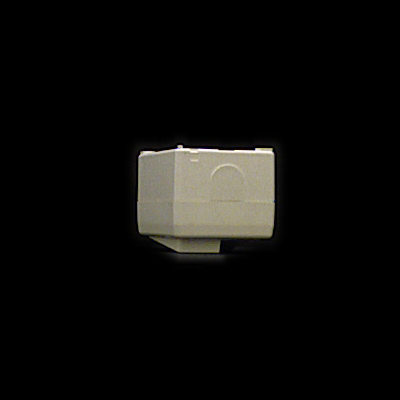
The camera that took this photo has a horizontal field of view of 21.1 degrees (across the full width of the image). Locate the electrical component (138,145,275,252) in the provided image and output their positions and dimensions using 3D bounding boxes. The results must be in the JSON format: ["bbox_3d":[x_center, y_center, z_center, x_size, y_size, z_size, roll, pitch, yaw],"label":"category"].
[{"bbox_3d":[0.000,0.000,0.656,0.062,0.061,0.096,0,1,-20],"label":"electrical component"}]
